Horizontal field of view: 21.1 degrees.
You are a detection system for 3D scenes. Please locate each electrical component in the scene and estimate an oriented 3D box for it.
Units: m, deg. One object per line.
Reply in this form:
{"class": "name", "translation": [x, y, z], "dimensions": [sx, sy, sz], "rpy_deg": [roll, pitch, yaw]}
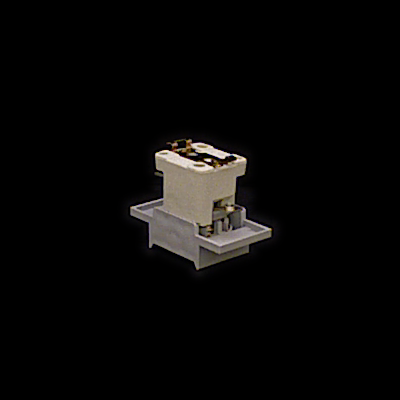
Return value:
{"class": "electrical component", "translation": [0.000, 0.000, 0.638], "dimensions": [0.042, 0.064, 0.080], "rpy_deg": [-18, 28, -40]}
